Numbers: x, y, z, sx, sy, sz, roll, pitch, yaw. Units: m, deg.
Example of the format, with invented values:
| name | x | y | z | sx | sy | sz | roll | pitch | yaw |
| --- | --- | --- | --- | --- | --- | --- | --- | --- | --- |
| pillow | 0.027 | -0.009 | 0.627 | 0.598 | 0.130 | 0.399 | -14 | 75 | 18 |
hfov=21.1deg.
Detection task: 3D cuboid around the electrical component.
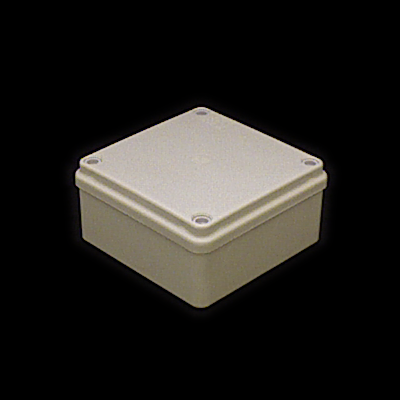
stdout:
| name | x | y | z | sx | sy | sz | roll | pitch | yaw |
| --- | --- | --- | --- | --- | --- | --- | --- | --- | --- |
| electrical component | 0.000 | 0.000 | 0.634 | 0.107 | 0.057 | 0.108 | 28 | 41 | 37 |
